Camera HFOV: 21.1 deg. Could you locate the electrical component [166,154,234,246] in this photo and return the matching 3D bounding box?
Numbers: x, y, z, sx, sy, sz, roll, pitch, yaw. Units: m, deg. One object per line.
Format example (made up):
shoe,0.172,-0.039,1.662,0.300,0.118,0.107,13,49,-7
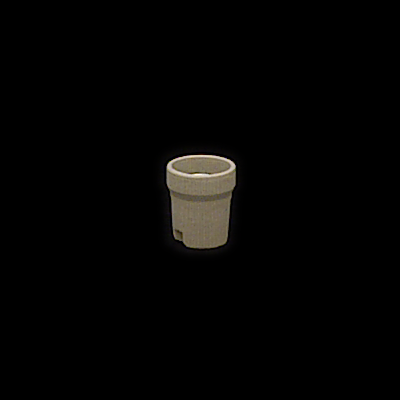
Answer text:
electrical component,0.000,0.000,0.640,0.040,0.047,0.039,1,21,0
